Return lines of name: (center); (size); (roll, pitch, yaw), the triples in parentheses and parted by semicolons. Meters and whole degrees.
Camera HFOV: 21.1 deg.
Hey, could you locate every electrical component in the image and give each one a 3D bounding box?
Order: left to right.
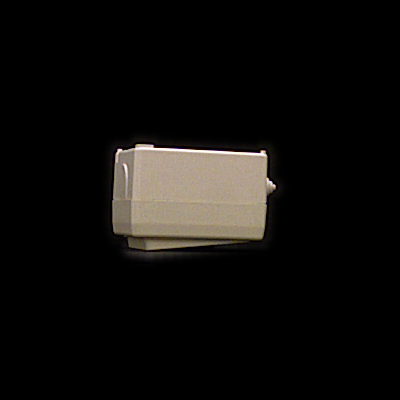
electrical component: (0.000, 0.000, 0.648); (0.096, 0.061, 0.061); (2, 0, -16)
